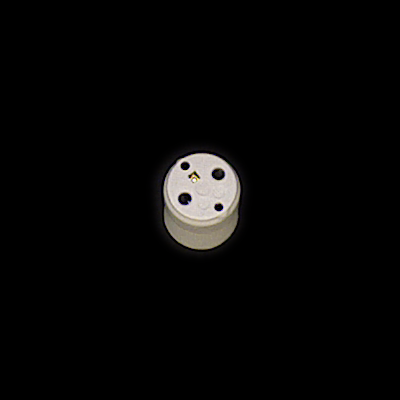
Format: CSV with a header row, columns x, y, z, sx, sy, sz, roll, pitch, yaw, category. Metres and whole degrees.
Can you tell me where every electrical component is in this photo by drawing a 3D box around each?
x,y,z,sx,sy,sz,roll,pitch,yaw,category
0.000,0.000,0.629,0.045,0.045,0.055,0,-16,0,electrical component
